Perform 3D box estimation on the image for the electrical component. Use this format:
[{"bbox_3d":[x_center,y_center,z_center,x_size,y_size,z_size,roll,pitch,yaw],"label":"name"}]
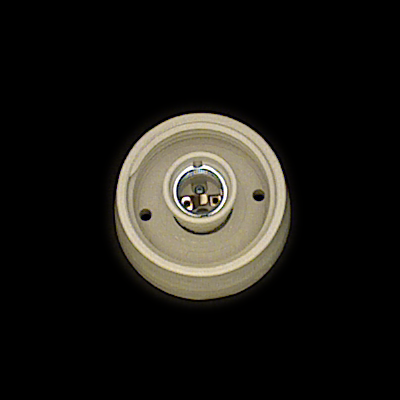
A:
[{"bbox_3d":[0.000,0.000,0.634,0.108,0.108,0.060,0,-16,0],"label":"electrical component"}]
